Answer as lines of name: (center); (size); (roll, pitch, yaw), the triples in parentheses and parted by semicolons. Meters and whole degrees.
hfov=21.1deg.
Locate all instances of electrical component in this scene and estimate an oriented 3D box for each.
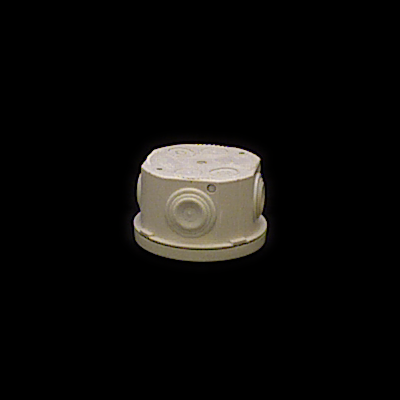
electrical component: (0.000, 0.000, 0.642); (0.080, 0.051, 0.079); (1, 20, 0)
